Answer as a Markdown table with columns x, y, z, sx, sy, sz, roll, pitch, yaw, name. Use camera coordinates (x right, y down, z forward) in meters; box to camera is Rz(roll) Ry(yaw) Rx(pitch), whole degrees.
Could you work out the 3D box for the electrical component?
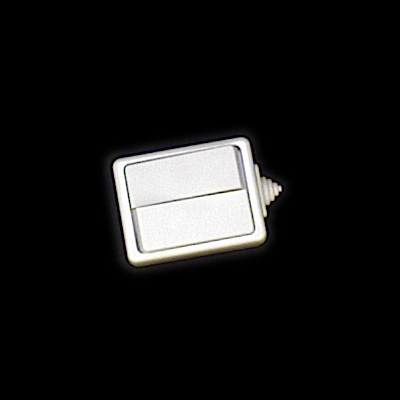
| x | y | z | sx | sy | sz | roll | pitch | yaw | name |
| --- | --- | --- | --- | --- | --- | --- | --- | --- | --- |
| 0.000 | 0.000 | 0.627 | 0.096 | 0.062 | 0.061 | -10 | -7 | -1 | electrical component |
